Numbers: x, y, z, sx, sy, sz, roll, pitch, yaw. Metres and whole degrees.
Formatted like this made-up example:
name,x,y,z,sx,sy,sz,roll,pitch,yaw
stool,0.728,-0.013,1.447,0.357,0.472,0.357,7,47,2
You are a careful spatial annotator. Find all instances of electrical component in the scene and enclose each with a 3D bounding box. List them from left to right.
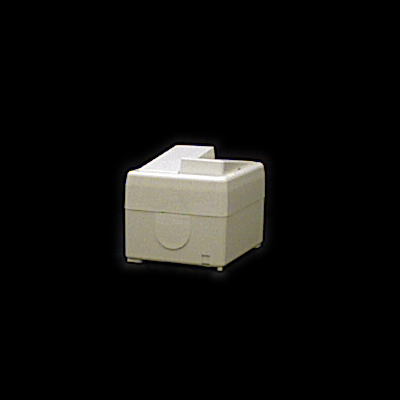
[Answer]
name,x,y,z,sx,sy,sz,roll,pitch,yaw
electrical component,0.000,0.000,0.647,0.061,0.061,0.096,5,11,20
